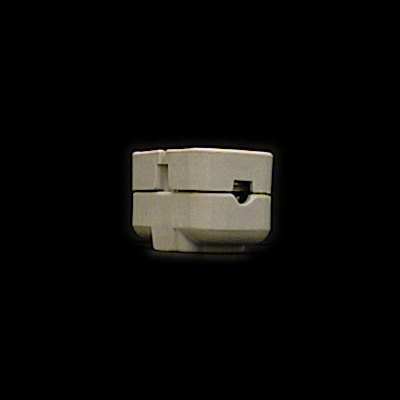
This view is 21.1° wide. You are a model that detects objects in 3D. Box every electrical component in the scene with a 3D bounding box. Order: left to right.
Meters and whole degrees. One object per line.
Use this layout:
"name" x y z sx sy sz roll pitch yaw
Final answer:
"electrical component" 0.000 0.000 0.654 0.054 0.059 0.094 1 1 -33
